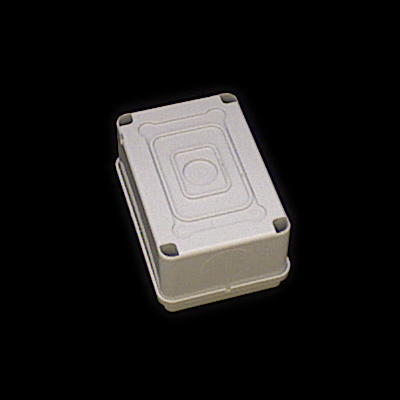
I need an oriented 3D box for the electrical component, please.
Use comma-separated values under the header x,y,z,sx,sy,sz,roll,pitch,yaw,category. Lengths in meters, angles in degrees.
x,y,z,sx,sy,sz,roll,pitch,yaw,category
0.000,0.000,0.629,0.078,0.112,0.057,-13,-36,-10,electrical component
